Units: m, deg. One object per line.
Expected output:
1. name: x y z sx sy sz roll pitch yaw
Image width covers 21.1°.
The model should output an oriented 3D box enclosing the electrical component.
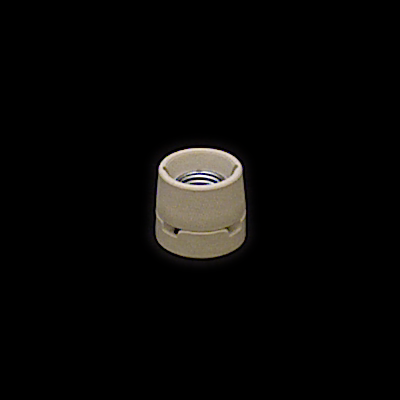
1. electrical component: 0.000 0.000 0.638 0.055 0.047 0.055 0 31 0
